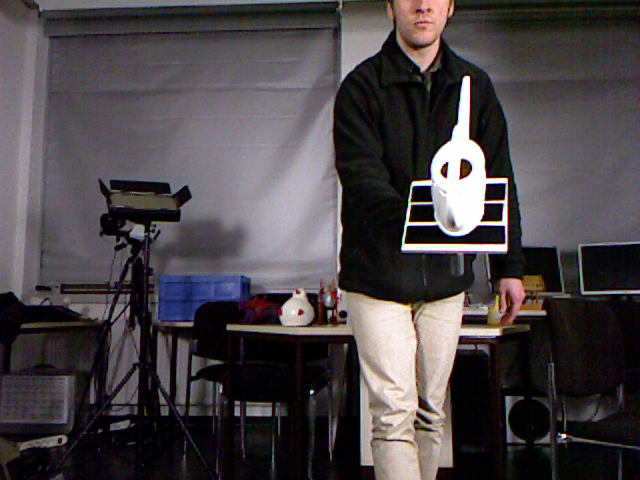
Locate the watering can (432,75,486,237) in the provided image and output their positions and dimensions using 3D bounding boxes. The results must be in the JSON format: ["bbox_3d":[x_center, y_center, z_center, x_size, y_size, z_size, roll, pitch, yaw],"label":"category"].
[{"bbox_3d":[0.289,-0.156,1.059,0.104,0.356,0.219,5,-35,18],"label":"watering can"}]
